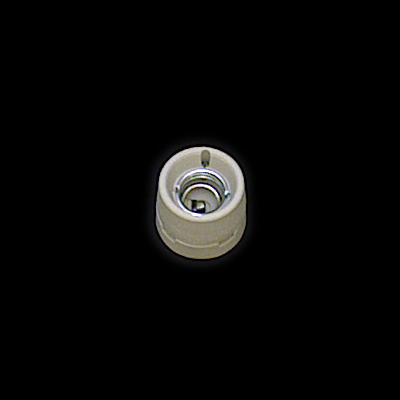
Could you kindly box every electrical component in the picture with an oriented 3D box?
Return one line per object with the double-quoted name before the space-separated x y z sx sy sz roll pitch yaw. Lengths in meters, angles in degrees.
"electrical component" 0.000 0.000 0.633 0.055 0.055 0.047 0 -28 -1
